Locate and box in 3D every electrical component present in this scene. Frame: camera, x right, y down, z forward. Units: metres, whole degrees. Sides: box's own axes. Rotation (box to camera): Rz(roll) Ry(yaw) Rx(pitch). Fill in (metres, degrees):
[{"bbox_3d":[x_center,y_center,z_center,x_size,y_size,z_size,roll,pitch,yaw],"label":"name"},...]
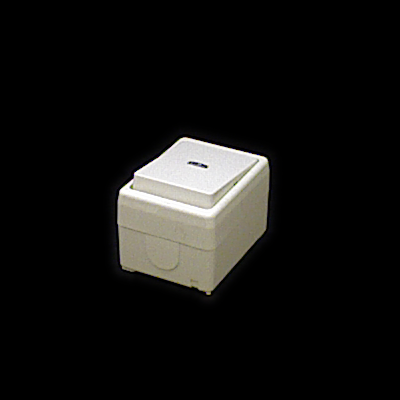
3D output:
[{"bbox_3d":[0.000,0.000,0.636,0.061,0.061,0.095,15,34,22],"label":"electrical component"}]
